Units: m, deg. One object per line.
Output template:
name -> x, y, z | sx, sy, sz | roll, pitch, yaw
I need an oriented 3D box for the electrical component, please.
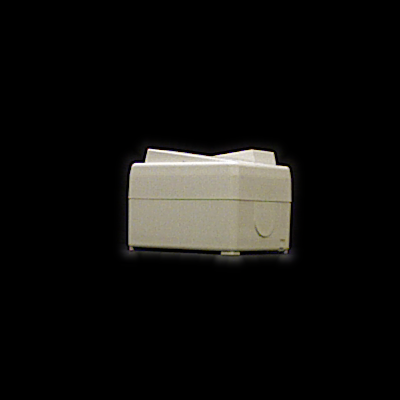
electrical component -> 0.000, 0.000, 0.651 | 0.096, 0.061, 0.062 | 2, 0, 37
